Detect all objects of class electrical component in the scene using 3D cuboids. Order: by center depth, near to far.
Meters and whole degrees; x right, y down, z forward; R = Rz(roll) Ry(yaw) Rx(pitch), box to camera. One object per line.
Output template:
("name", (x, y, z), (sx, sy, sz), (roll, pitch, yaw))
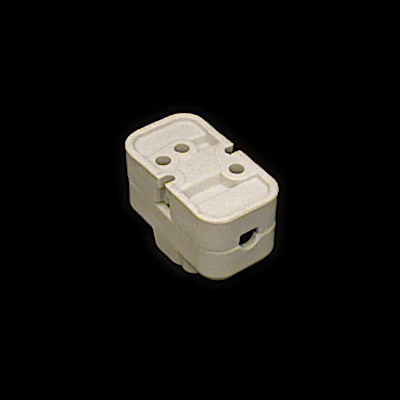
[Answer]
("electrical component", (0.000, 0.000, 0.636), (0.054, 0.060, 0.094), (-27, 50, -26))
